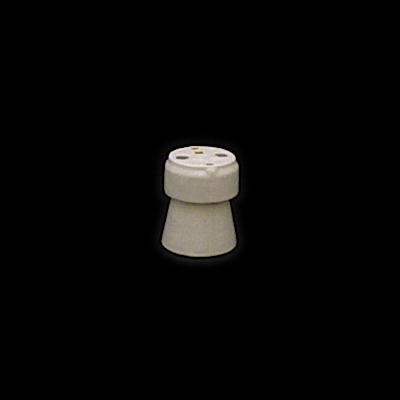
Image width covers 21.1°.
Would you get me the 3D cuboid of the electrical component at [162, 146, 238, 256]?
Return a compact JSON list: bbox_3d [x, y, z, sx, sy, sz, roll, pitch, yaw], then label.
[{"bbox_3d":[0.000,0.000,0.640,0.045,0.056,0.044,1,22,0],"label":"electrical component"}]
